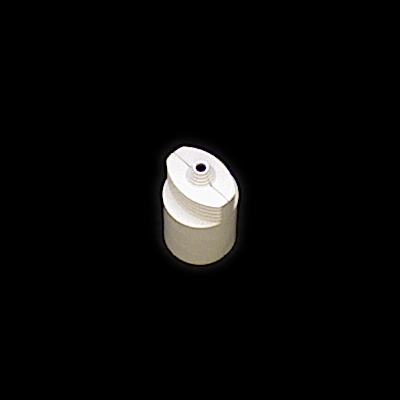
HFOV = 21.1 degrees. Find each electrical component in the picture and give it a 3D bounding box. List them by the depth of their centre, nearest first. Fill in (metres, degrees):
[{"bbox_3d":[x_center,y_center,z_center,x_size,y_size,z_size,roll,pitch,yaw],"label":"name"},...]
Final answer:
[{"bbox_3d":[0.000,0.000,0.617,0.043,0.043,0.081,0,-27,0],"label":"electrical component"}]
